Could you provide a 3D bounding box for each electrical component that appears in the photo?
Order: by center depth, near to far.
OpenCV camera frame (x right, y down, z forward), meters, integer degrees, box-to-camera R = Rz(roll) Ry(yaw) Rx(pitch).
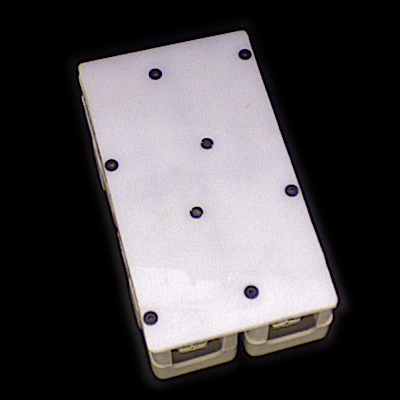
[{"bbox_3d":[0.000,0.000,0.625,0.106,0.186,0.060,-13,-26,-7],"label":"electrical component"}]
